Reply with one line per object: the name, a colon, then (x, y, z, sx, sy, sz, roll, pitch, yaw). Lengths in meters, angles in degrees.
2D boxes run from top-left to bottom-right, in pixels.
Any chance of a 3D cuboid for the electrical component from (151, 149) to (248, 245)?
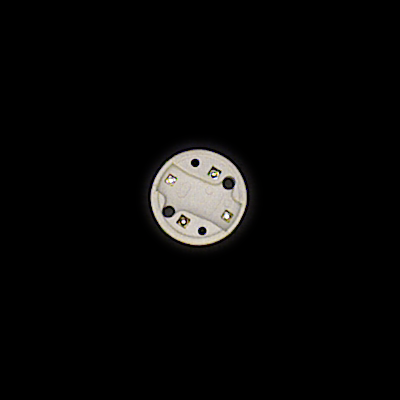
electrical component: (0.000, 0.000, 0.636, 0.055, 0.055, 0.047, 0, -7, 0)
